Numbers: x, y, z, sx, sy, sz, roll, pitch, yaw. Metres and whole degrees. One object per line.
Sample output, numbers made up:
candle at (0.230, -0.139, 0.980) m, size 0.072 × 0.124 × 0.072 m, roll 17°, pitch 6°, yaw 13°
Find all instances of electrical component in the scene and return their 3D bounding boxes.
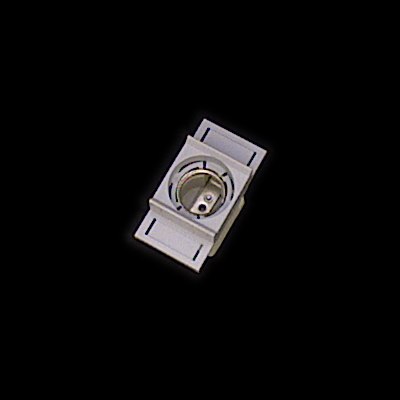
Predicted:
electrical component at (0.000, 0.000, 0.624) m, size 0.042 × 0.081 × 0.063 m, roll 28°, pitch -14°, yaw 10°
